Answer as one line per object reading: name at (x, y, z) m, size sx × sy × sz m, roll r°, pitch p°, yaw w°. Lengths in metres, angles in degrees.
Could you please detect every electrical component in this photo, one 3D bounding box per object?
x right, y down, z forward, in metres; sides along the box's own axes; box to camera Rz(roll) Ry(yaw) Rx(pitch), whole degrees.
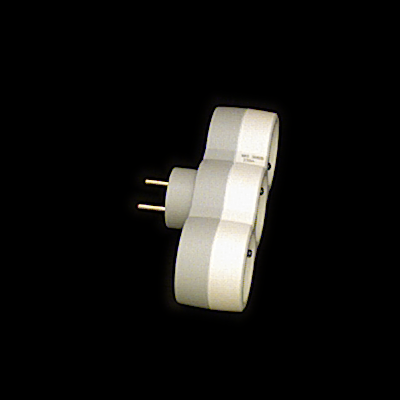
electrical component at (0.000, 0.000, 0.640) m, size 0.073 × 0.138 × 0.052 m, roll 8°, pitch -36°, yaw 8°
